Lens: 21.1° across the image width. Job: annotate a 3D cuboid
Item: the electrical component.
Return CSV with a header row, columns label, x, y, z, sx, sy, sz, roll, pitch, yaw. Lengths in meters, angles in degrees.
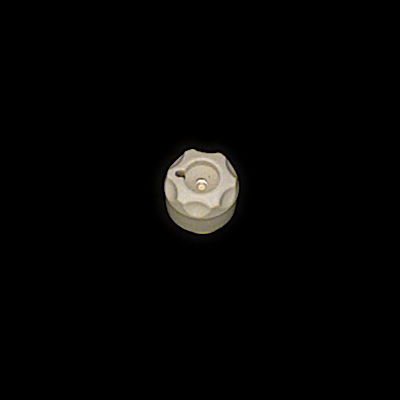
label,x,y,z,sx,sy,sz,roll,pitch,yaw
electrical component,0.000,0.000,0.634,0.043,0.043,0.062,0,-27,-1
